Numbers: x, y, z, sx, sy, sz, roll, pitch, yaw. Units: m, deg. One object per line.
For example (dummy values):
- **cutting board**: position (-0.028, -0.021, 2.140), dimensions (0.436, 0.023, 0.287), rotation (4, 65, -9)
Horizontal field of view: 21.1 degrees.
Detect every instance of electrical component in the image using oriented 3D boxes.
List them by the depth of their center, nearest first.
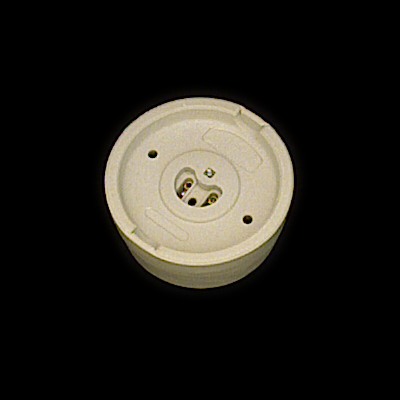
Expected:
- **electrical component**: position (0.000, 0.000, 0.636), dimensions (0.108, 0.107, 0.060), rotation (0, -26, 0)
